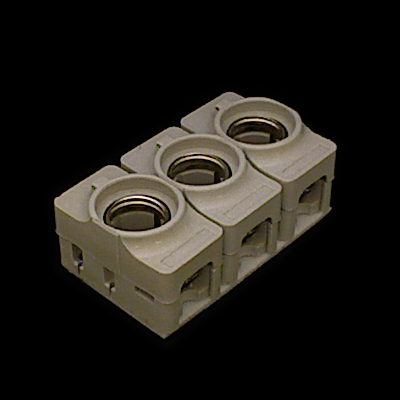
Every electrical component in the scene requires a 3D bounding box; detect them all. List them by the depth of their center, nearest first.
[{"bbox_3d":[0.000,0.000,0.637,0.088,0.063,0.149,31,49,30],"label":"electrical component"}]
